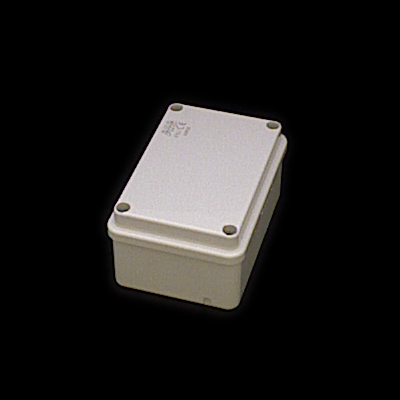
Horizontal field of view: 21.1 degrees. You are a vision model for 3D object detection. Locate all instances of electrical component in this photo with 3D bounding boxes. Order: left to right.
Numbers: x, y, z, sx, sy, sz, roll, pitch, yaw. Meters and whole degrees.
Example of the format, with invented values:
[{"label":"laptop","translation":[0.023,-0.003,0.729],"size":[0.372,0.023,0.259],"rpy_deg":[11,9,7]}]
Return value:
[{"label":"electrical component","translation":[0.000,0.000,0.631],"size":[0.078,0.057,0.112],"rpy_deg":[12,43,12]}]
